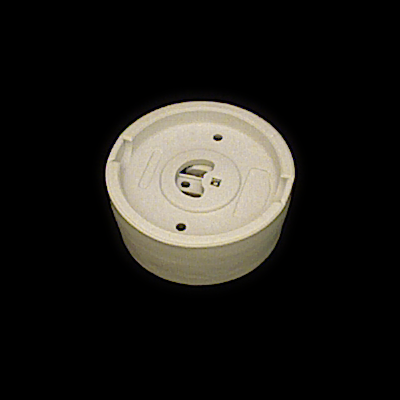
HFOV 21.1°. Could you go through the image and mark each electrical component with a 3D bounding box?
[{"bbox_3d":[0.000,0.000,0.636,0.108,0.107,0.060,0,-37,0],"label":"electrical component"}]
